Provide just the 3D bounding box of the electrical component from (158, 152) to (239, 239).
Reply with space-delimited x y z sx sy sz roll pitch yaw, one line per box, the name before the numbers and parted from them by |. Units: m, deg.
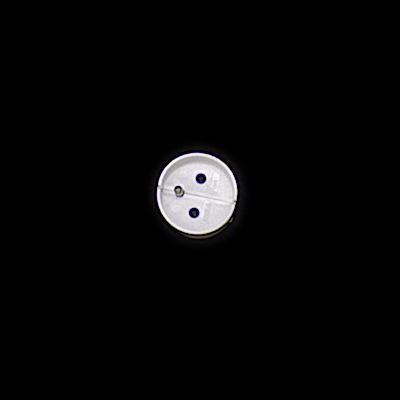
electrical component | 0.000 0.000 0.615 0.043 0.043 0.080 0 -7 1
